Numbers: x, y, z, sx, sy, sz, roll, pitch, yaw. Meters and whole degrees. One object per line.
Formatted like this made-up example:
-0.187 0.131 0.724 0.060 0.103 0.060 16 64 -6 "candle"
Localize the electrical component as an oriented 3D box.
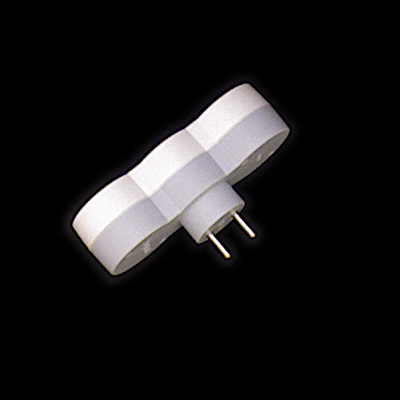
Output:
0.000 0.000 0.631 0.138 0.074 0.052 -39 -11 -11 "electrical component"
